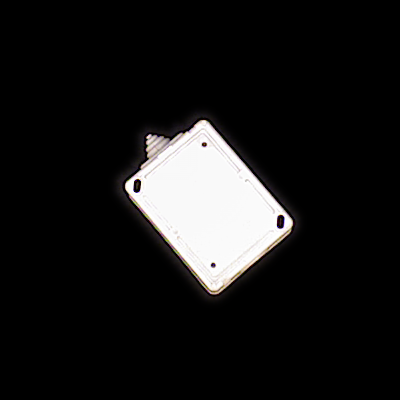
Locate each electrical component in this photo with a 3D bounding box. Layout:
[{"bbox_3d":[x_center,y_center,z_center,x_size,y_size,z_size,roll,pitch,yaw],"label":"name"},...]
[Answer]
[{"bbox_3d":[0.000,0.000,0.629,0.062,0.096,0.061,-40,-6,-4],"label":"electrical component"}]
